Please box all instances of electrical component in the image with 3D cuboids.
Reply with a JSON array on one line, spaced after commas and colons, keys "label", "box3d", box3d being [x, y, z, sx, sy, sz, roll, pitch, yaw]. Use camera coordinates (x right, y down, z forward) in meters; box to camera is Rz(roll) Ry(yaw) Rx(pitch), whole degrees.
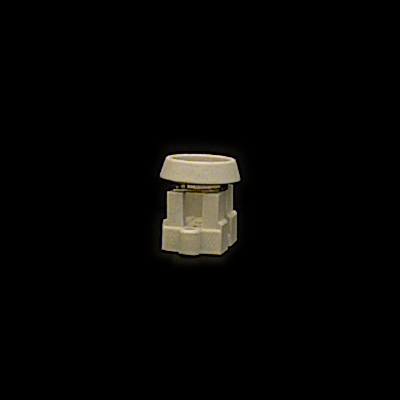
[{"label": "electrical component", "box3d": [0.000, 0.000, 0.653, 0.048, 0.056, 0.066, 6, 12, 13]}]
